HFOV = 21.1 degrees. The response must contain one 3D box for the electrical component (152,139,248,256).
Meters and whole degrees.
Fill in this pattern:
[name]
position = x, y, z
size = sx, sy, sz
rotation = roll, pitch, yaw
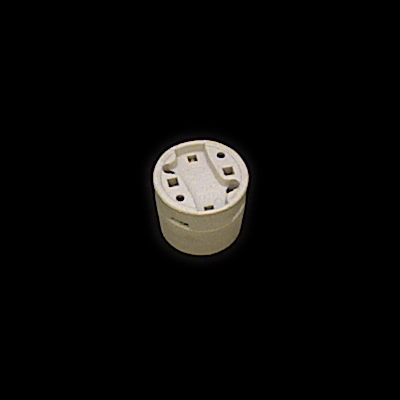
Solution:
[electrical component]
position = 0.000, 0.000, 0.634
size = 0.055, 0.055, 0.047
rotation = 0, -38, 0
